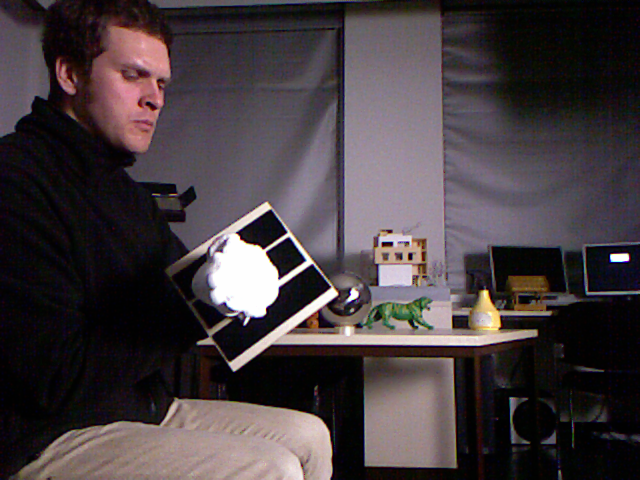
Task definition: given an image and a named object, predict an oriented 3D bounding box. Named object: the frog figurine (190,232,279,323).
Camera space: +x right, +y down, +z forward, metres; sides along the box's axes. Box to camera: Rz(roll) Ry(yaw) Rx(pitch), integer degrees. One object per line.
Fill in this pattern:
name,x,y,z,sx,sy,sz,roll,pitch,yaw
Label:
frog figurine,-0.126,0.051,0.761,0.123,0.139,0.158,-16,-15,-4
